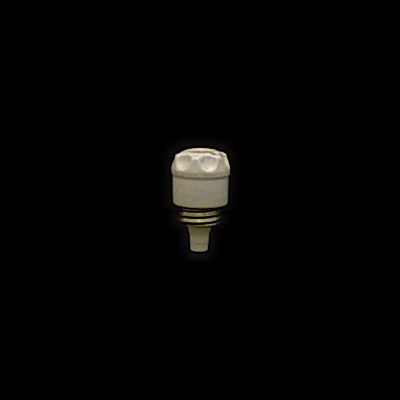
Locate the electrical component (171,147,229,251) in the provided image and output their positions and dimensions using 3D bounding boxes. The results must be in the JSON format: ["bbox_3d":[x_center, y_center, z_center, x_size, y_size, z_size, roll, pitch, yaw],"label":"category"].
[{"bbox_3d":[0.000,0.000,0.649,0.035,0.062,0.035,1,12,0],"label":"electrical component"}]
